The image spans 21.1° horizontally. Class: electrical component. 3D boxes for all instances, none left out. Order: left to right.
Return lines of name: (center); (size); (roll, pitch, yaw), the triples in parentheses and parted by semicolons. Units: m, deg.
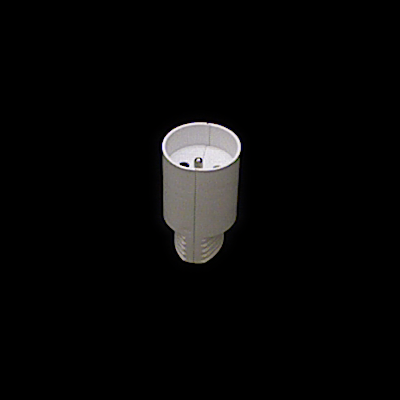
electrical component: (0.000, 0.000, 0.621); (0.043, 0.082, 0.042); (0, 42, 0)
